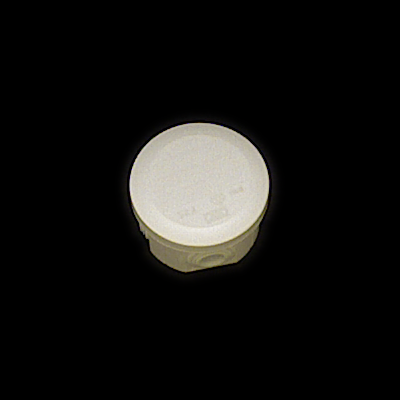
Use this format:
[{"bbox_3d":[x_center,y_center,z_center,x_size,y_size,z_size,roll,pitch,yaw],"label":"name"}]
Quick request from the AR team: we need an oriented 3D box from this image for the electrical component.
[{"bbox_3d":[0.000,0.000,0.629,0.080,0.080,0.050,0,-27,0],"label":"electrical component"}]
